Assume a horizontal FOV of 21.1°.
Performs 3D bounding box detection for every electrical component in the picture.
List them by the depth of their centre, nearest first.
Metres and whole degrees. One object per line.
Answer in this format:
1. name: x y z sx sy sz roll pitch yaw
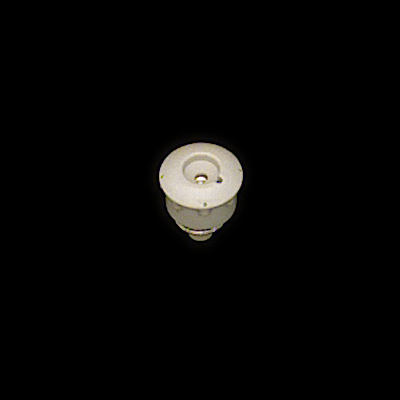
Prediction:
1. electrical component: 0.000 0.000 0.636 0.048 0.048 0.062 0 -37 0
